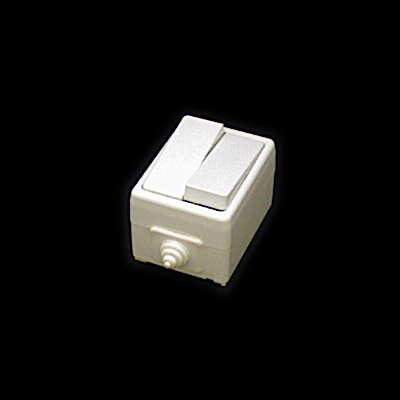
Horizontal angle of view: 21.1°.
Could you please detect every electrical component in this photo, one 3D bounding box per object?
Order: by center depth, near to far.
[{"bbox_3d":[0.000,0.000,0.629,0.061,0.061,0.096,16,44,17],"label":"electrical component"}]
